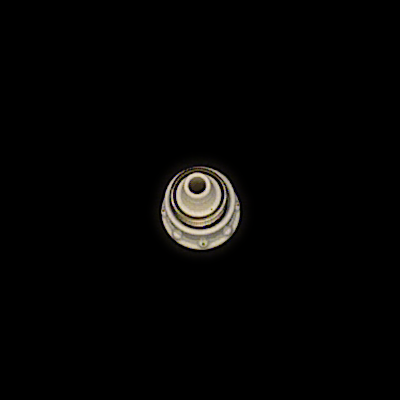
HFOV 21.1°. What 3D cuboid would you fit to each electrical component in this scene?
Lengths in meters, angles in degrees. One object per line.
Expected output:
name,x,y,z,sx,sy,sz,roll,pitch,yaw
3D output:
electrical component,0.000,0.000,0.633,0.048,0.048,0.061,0,-17,1
